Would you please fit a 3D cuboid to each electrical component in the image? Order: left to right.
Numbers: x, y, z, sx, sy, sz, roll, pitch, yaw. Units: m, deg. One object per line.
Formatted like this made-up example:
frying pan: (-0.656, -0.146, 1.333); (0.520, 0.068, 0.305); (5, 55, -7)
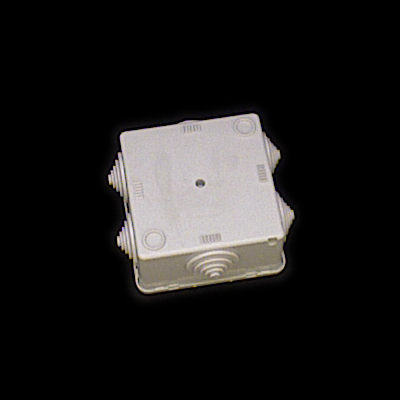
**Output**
electrical component: (0.000, 0.000, 0.631); (0.100, 0.100, 0.048); (-8, -27, -4)
